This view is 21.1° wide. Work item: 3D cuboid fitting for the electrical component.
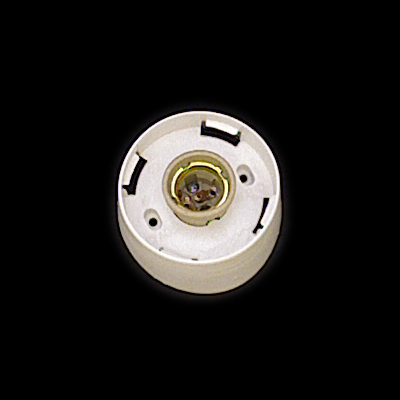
[{"bbox_3d":[0.000,0.000,0.624,0.099,0.099,0.064,0,-16,0],"label":"electrical component"}]
